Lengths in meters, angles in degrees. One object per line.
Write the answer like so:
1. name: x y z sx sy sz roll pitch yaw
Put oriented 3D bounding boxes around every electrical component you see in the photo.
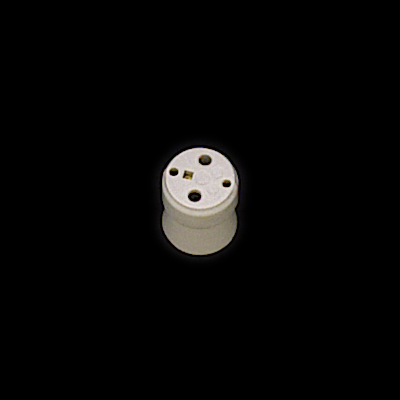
1. electrical component: 0.000 0.000 0.629 0.045 0.045 0.055 0 -27 -1
